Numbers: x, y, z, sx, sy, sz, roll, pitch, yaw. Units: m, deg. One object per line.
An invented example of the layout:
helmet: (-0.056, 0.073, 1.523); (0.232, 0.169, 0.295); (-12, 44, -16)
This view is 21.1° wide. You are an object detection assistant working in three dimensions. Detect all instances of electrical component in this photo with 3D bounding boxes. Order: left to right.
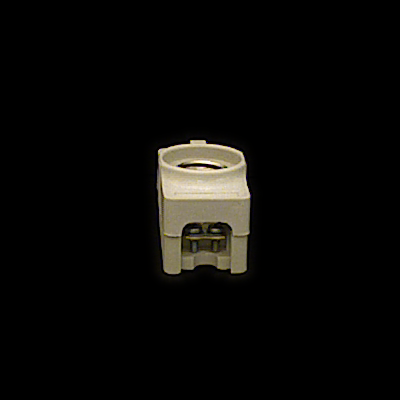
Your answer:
electrical component: (0.000, 0.000, 0.647); (0.050, 0.056, 0.088); (-1, 22, -5)
